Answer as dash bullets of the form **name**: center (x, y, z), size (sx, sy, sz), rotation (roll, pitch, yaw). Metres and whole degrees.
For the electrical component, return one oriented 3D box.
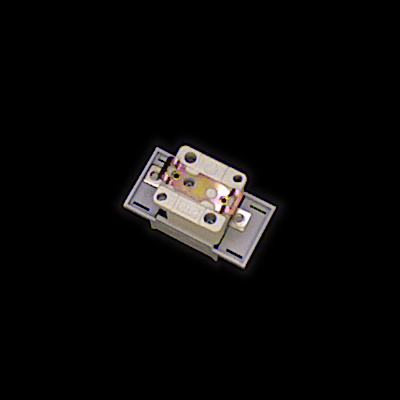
- **electrical component**: center (0.000, 0.000, 0.625), size (0.081, 0.042, 0.063), rotation (26, -15, 8)
